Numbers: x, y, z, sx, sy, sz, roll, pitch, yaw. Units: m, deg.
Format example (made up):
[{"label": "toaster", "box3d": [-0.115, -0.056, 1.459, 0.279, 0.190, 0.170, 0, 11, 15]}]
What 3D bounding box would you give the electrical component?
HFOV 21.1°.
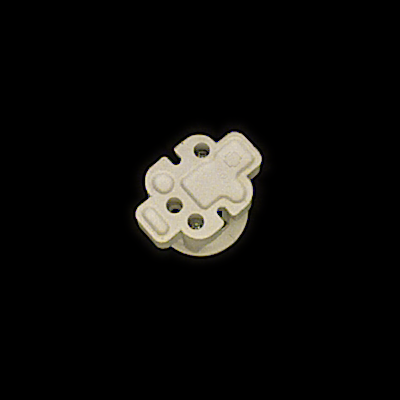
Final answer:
[{"label": "electrical component", "box3d": [0.000, 0.000, 0.636, 0.079, 0.058, 0.056, -40, -13, -12]}]
